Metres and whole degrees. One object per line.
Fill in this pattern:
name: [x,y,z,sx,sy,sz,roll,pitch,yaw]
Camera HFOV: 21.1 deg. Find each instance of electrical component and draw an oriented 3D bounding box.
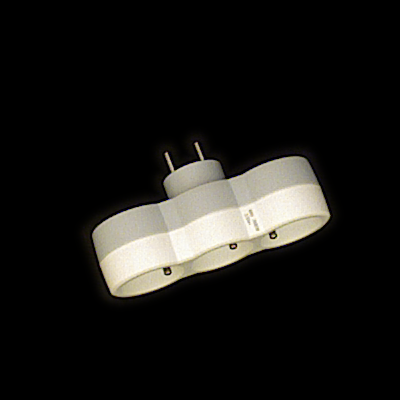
electrical component: [0.000,0.000,0.639,0.138,0.073,0.052,-19,-17,-5]
